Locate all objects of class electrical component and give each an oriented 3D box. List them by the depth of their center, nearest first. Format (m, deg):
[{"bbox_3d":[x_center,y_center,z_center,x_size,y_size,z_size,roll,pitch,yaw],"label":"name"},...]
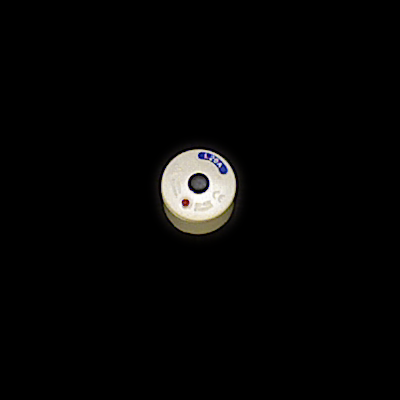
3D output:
[{"bbox_3d":[0.000,0.000,0.616,0.040,0.040,0.078,0,-16,0],"label":"electrical component"}]
